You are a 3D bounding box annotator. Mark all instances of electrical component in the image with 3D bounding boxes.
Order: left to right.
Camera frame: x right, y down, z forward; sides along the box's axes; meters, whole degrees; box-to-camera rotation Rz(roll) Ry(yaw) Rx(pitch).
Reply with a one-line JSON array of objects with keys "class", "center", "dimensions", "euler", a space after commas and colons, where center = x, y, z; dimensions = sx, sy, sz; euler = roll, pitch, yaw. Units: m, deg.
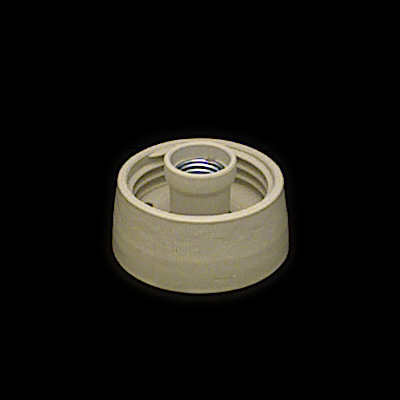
[{"class": "electrical component", "center": [0.000, 0.000, 0.642], "dimensions": [0.108, 0.061, 0.106], "euler": [1, 32, 0]}]
